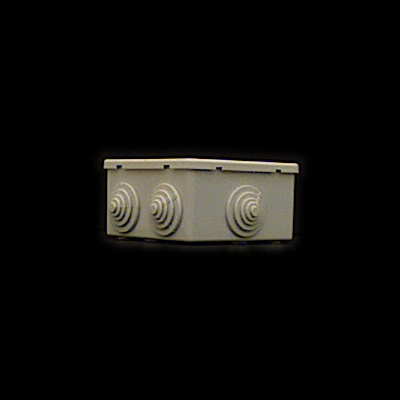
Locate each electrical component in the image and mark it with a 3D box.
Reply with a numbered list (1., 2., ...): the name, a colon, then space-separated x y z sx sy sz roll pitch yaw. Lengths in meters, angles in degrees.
1. electrical component: 0.000 0.000 0.658 0.100 0.048 0.098 0 1 -40
